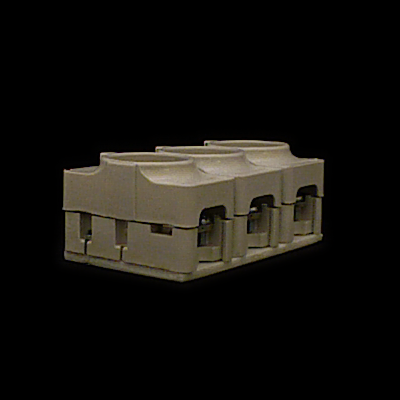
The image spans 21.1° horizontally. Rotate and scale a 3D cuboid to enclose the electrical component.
[{"bbox_3d":[0.000,0.000,0.651,0.089,0.062,0.149,8,11,35],"label":"electrical component"}]
